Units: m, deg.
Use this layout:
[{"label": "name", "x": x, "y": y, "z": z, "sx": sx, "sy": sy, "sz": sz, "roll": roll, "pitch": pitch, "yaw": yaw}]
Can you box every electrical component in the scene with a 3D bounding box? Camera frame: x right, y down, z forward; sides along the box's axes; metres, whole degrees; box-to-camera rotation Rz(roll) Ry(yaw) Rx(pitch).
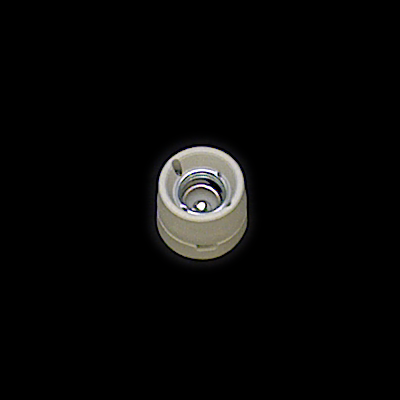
[{"label": "electrical component", "x": 0.000, "y": 0.000, "z": 0.633, "sx": 0.055, "sy": 0.055, "sz": 0.047, "roll": 0, "pitch": -28, "yaw": 1}]
